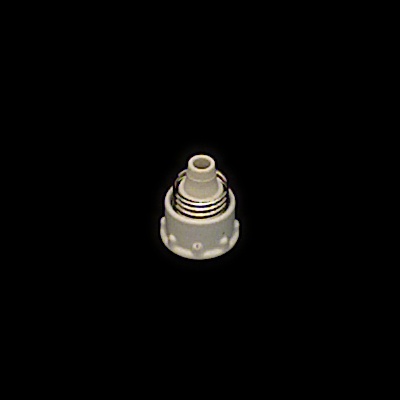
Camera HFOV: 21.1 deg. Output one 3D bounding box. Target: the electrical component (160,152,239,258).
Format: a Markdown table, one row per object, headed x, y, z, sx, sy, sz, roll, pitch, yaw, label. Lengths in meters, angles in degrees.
| x | y | z | sx | sy | sz | roll | pitch | yaw | label |
| --- | --- | --- | --- | --- | --- | --- | --- | --- | --- |
| 0.000 | 0.000 | 0.637 | 0.048 | 0.062 | 0.047 | 1 | 43 | 0 | electrical component |
